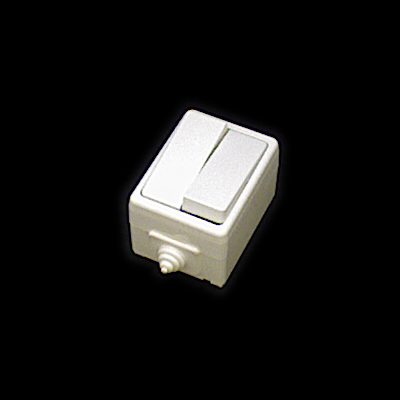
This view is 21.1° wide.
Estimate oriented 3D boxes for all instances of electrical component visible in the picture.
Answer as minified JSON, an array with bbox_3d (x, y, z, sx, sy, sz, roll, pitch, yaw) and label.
[{"bbox_3d":[0.000,0.000,0.626,0.061,0.096,0.061,21,-35,15],"label":"electrical component"}]
